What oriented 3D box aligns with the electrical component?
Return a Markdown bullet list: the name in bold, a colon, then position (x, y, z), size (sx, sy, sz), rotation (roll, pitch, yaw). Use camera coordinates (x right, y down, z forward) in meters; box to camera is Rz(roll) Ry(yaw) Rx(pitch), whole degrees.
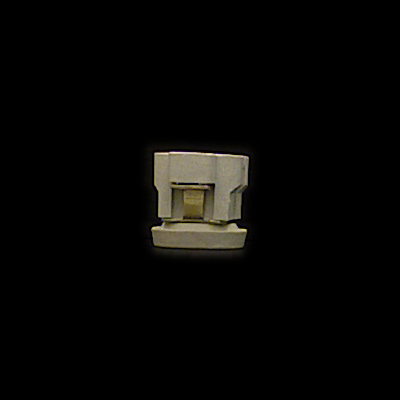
- **electrical component**: position (-0.001, 0.000, 0.655), size (0.057, 0.057, 0.078), rotation (2, 3, 10)
